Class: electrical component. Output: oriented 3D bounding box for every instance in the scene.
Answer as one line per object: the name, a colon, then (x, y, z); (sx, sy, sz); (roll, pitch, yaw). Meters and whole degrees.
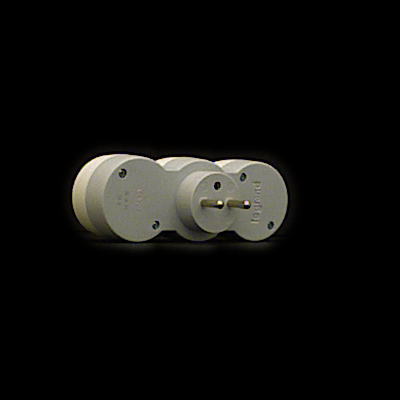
electrical component: (0.000, 0.000, 0.653); (0.139, 0.052, 0.073); (1, 2, -35)
